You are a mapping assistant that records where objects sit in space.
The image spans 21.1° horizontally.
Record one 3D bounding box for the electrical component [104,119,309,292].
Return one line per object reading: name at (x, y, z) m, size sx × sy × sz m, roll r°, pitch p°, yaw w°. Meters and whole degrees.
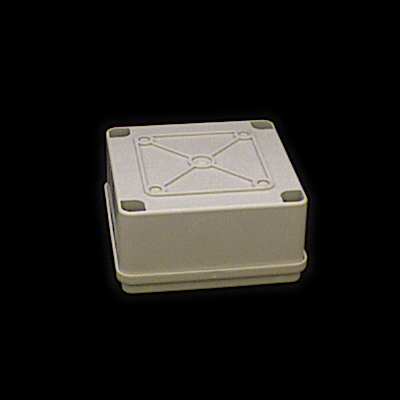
electrical component at (0.000, 0.000, 0.637) m, size 0.109 × 0.057 × 0.107 m, roll -3°, pitch 31°, yaw -8°
